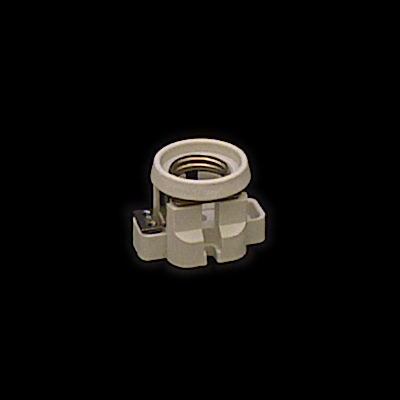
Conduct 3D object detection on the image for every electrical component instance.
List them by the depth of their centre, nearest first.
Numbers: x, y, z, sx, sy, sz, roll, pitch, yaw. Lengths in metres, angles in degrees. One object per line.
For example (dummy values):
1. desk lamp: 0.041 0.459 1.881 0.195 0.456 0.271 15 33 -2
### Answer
1. electrical component: 0.000 0.000 0.634 0.079 0.057 0.057 -9 33 -15
